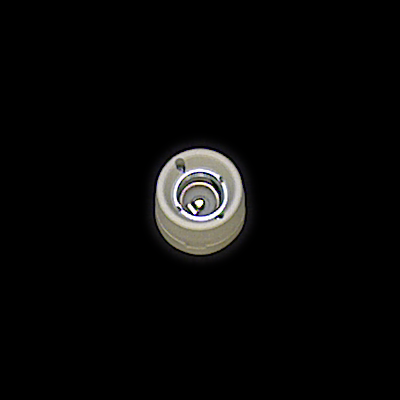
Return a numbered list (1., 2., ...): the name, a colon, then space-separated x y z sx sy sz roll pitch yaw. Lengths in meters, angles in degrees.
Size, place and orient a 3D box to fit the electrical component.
1. electrical component: 0.000 0.000 0.633 0.055 0.056 0.047 0 -18 0
